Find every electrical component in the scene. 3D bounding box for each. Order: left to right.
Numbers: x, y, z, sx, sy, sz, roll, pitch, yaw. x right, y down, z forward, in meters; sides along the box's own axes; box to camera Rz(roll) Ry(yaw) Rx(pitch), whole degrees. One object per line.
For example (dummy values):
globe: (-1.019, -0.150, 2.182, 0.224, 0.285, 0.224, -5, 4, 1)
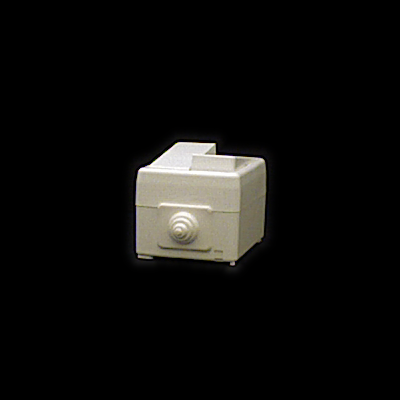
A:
electrical component: (0.000, 0.000, 0.642, 0.061, 0.061, 0.096, 4, 10, 15)
